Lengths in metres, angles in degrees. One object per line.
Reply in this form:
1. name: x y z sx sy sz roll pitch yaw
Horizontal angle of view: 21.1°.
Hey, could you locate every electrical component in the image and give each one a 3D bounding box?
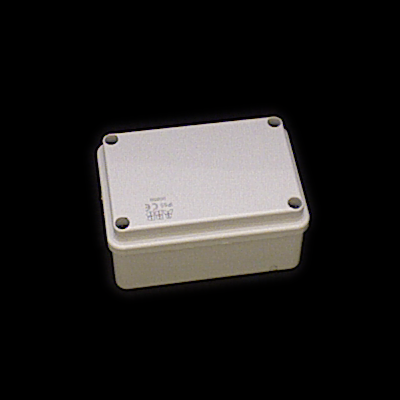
1. electrical component: 0.000 0.000 0.627 0.113 0.078 0.057 -7 -37 -6
